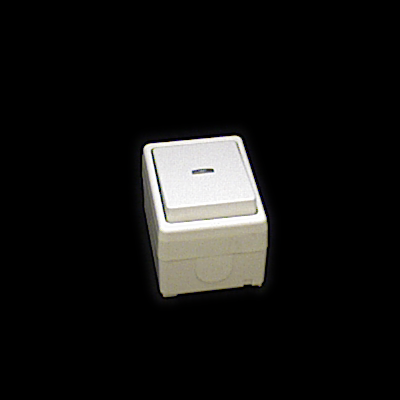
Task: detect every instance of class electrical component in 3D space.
[{"bbox_3d":[0.000,0.000,0.632,0.062,0.061,0.095,-6,42,-7],"label":"electrical component"}]
